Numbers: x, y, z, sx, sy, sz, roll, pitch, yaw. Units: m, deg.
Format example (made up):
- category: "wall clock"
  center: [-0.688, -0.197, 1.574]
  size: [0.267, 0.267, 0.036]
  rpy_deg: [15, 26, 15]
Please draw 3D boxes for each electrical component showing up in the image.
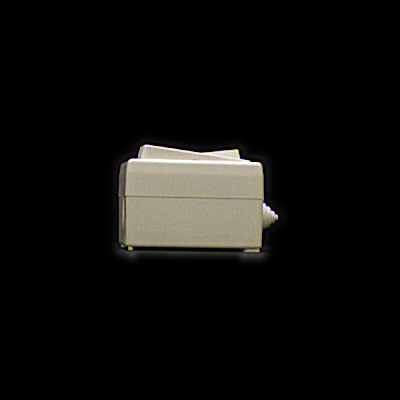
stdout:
- category: "electrical component"
  center: [0.000, 0.000, 0.650]
  size: [0.096, 0.061, 0.061]
  rpy_deg: [1, 0, -8]
